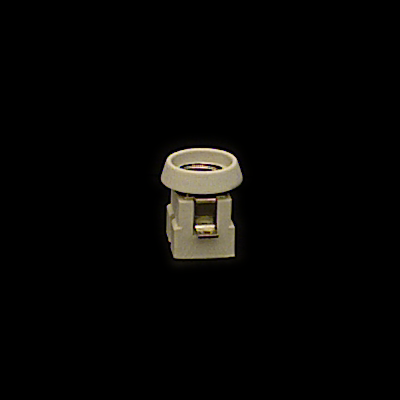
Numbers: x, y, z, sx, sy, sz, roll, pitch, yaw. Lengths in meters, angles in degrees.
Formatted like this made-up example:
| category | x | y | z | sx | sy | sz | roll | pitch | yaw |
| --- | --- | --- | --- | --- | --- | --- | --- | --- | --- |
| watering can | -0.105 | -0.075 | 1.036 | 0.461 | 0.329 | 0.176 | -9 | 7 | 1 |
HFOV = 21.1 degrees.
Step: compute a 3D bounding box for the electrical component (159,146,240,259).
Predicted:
| category | x | y | z | sx | sy | sz | roll | pitch | yaw |
| --- | --- | --- | --- | --- | --- | --- | --- | --- | --- |
| electrical component | 0.000 | 0.000 | 0.646 | 0.048 | 0.056 | 0.065 | -5 | 23 | -8 |
